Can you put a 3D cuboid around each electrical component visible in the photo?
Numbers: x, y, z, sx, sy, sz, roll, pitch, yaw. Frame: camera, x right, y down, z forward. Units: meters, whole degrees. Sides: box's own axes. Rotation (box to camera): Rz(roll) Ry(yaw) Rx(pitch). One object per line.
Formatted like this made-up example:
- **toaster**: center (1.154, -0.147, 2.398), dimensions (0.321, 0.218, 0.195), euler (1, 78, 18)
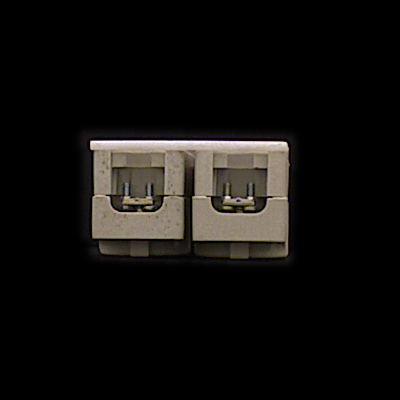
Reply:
- **electrical component**: center (0.000, 0.000, 0.650), dimensions (0.105, 0.060, 0.186), euler (1, -1, 5)
